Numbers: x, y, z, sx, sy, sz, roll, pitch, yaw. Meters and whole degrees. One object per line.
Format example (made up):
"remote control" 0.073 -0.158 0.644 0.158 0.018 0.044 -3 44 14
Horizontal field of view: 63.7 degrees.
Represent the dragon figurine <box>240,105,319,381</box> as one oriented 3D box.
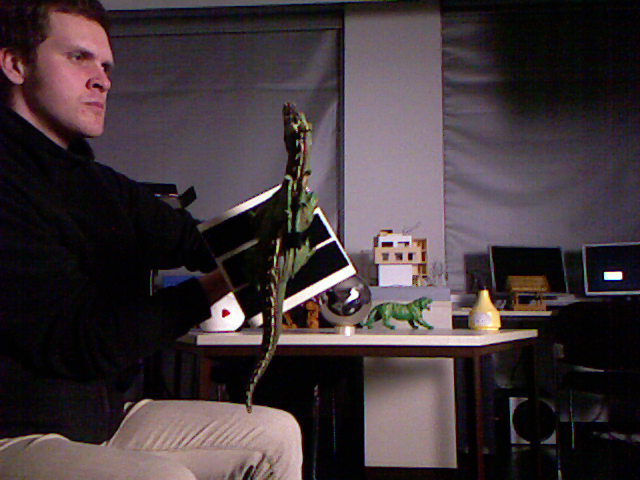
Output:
"dragon figurine" -0.059 0.006 0.757 0.123 0.416 0.241 5 -11 -5
